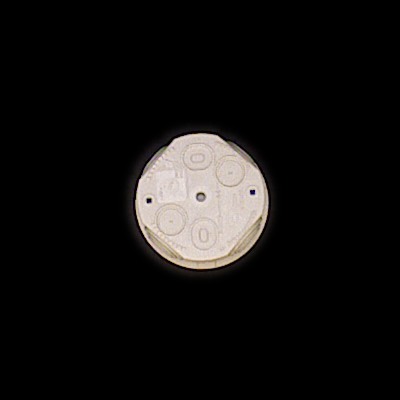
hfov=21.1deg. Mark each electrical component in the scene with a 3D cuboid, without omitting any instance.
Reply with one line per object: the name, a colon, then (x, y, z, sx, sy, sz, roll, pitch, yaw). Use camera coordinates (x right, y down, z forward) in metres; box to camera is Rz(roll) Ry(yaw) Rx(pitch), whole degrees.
electrical component: (0.000, 0.000, 0.633, 0.080, 0.080, 0.050, 0, -6, 1)
